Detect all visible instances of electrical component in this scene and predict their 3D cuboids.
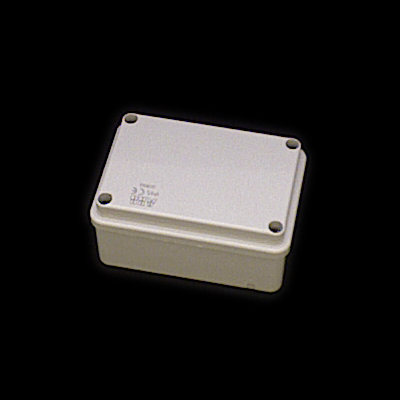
[{"bbox_3d":[0.000,0.000,0.627,0.113,0.078,0.057,9,-37,6],"label":"electrical component"}]
